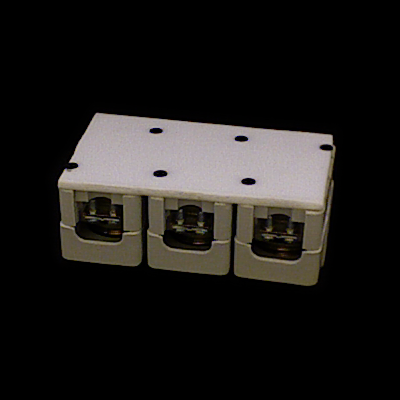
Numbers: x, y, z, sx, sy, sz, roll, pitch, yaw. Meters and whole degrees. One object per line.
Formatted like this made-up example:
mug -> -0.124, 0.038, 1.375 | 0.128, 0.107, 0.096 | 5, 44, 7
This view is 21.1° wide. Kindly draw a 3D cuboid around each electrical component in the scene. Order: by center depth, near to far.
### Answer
electrical component -> 0.000, 0.000, 0.642 | 0.150, 0.063, 0.087 | 6, 32, 8
